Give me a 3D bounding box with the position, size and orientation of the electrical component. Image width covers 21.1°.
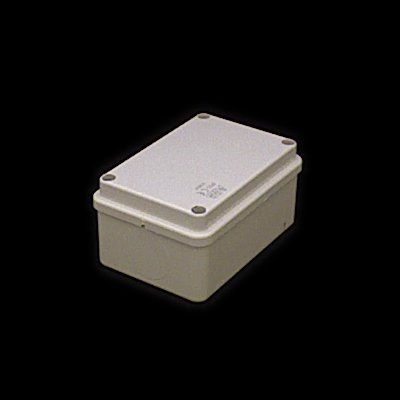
[{"bbox_3d":[0.000,0.000,0.633,0.078,0.058,0.112,20,36,28],"label":"electrical component"}]
